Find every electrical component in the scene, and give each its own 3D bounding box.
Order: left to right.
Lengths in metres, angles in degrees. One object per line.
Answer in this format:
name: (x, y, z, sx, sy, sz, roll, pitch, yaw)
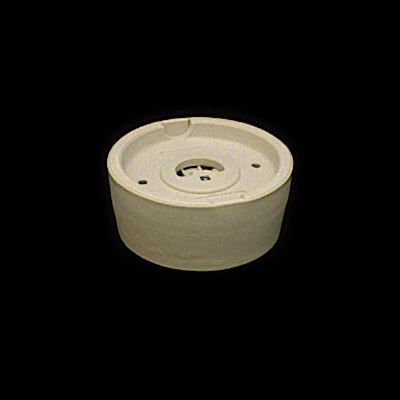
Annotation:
electrical component: (0.000, 0.000, 0.639, 0.108, 0.061, 0.106, 1, 31, 0)
